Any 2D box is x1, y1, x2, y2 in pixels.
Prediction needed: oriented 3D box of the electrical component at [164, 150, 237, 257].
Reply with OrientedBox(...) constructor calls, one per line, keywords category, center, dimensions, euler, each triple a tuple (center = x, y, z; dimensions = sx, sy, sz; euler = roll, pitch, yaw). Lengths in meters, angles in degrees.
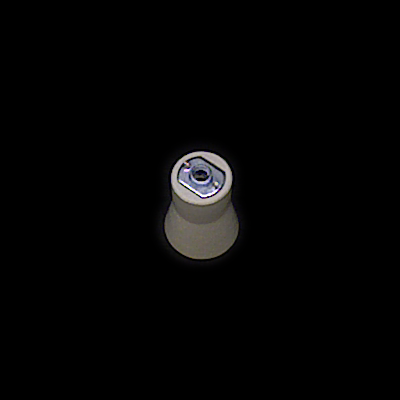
OrientedBox(category="electrical component", center=(0.000, 0.000, 0.625), dimensions=(0.044, 0.044, 0.065), euler=(0, -28, 0))
